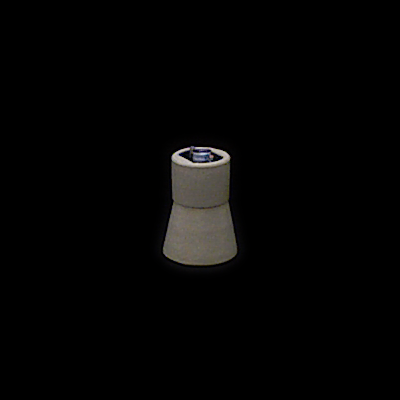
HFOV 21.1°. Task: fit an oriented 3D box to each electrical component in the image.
[{"bbox_3d":[0.000,0.000,0.637,0.044,0.066,0.044,0,22,0],"label":"electrical component"}]
